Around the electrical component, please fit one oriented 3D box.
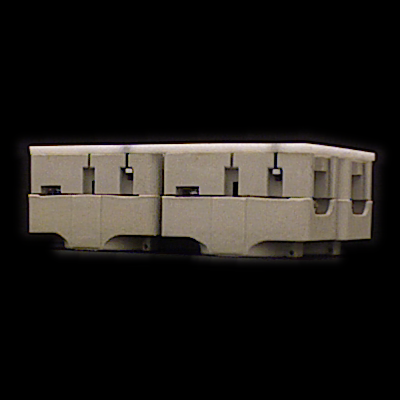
[{"bbox_3d":[0.000,0.000,0.649,0.186,0.060,0.106,1,-1,30],"label":"electrical component"}]
